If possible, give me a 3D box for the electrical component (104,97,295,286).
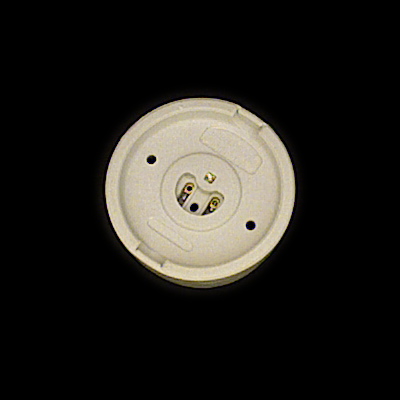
[{"bbox_3d":[0.000,0.000,0.635,0.108,0.108,0.060,0,-16,0],"label":"electrical component"}]
